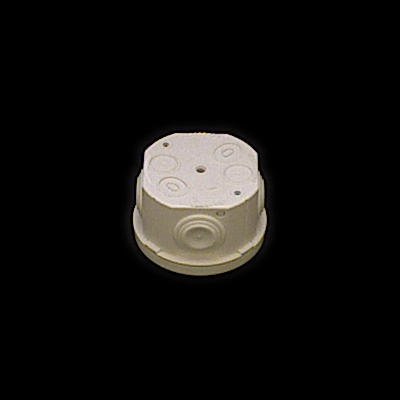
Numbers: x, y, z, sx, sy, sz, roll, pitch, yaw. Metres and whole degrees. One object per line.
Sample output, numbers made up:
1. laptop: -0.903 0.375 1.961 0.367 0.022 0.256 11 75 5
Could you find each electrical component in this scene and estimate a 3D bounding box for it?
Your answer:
1. electrical component: 0.000 0.000 0.634 0.080 0.051 0.080 1 43 -1
